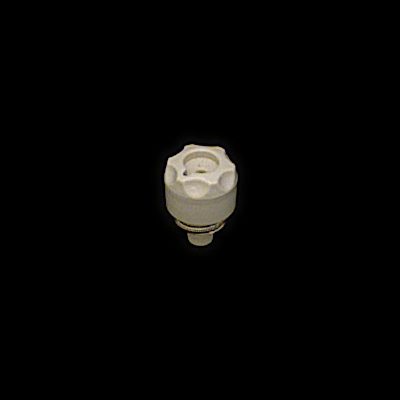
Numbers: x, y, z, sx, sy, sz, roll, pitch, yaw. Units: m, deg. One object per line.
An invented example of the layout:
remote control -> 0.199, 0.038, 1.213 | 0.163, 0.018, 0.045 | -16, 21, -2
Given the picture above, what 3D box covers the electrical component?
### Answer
electrical component -> 0.000, 0.000, 0.639 | 0.043, 0.062, 0.043 | 1, 42, 0
